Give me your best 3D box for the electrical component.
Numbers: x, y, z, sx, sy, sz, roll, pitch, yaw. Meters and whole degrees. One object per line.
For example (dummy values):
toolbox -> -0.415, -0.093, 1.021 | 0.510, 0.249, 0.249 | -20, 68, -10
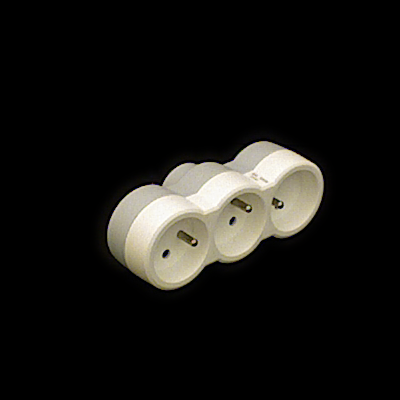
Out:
electrical component -> 0.000, 0.000, 0.646 | 0.139, 0.053, 0.072 | -23, 38, -33
